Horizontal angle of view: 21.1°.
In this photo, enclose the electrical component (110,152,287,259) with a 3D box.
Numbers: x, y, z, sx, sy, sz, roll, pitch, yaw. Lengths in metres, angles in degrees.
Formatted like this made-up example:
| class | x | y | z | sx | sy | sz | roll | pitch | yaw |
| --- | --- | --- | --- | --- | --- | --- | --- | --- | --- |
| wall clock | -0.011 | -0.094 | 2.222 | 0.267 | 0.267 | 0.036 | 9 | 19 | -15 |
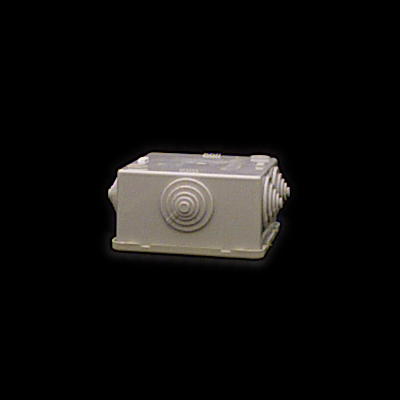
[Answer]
| class | x | y | z | sx | sy | sz | roll | pitch | yaw |
| --- | --- | --- | --- | --- | --- | --- | --- | --- | --- |
| electrical component | 0.000 | 0.000 | 0.646 | 0.099 | 0.049 | 0.099 | 3 | 11 | 10 |
